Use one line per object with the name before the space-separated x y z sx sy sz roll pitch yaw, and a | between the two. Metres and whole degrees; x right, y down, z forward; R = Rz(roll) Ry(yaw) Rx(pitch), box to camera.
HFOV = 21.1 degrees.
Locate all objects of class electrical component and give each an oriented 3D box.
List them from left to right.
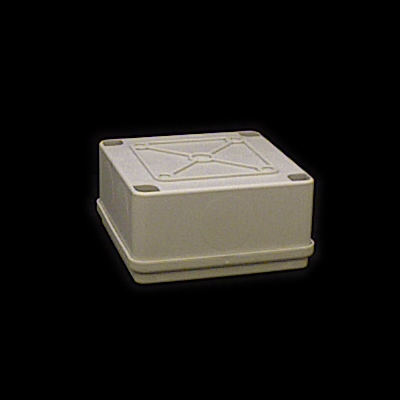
electrical component | 0.000 0.000 0.642 0.109 0.057 0.107 -4 21 -16
